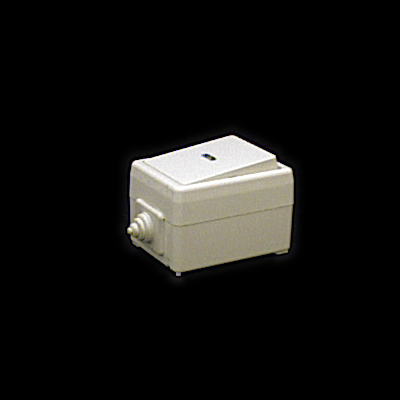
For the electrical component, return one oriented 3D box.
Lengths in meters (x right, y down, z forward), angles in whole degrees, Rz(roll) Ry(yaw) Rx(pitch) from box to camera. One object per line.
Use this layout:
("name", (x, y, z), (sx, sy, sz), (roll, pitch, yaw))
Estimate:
("electrical component", (0.000, 0.000, 0.638), (0.096, 0.061, 0.061), (-11, 24, -28))
